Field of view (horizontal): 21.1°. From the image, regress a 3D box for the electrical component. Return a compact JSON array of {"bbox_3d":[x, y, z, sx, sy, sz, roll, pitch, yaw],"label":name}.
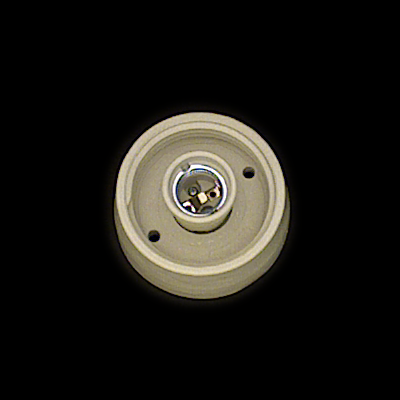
[{"bbox_3d":[0.000,0.000,0.633,0.108,0.108,0.060,0,-16,0],"label":"electrical component"}]
